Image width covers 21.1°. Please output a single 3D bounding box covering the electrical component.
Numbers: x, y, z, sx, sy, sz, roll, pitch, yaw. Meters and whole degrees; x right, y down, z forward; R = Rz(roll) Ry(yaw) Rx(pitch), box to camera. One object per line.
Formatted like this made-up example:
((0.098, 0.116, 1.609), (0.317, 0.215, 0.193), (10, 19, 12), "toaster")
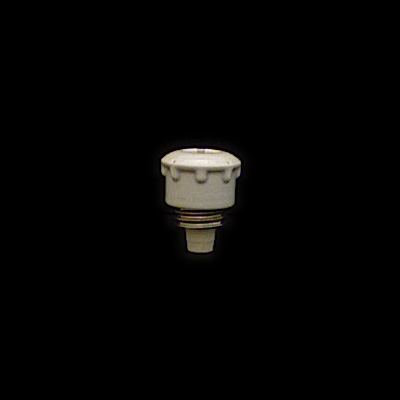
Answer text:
((0.000, 0.000, 0.651), (0.048, 0.062, 0.048), (1, 11, 0), "electrical component")
